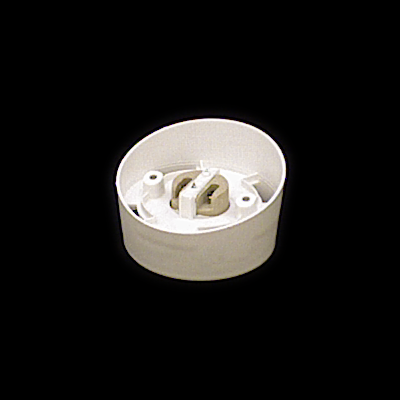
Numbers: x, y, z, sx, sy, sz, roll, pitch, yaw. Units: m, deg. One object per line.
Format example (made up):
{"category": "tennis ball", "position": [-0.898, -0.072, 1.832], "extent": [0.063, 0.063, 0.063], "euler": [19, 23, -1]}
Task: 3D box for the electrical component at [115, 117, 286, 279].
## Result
{"category": "electrical component", "position": [0.000, 0.000, 0.634], "extent": [0.099, 0.065, 0.097], "euler": [1, 30, 0]}
